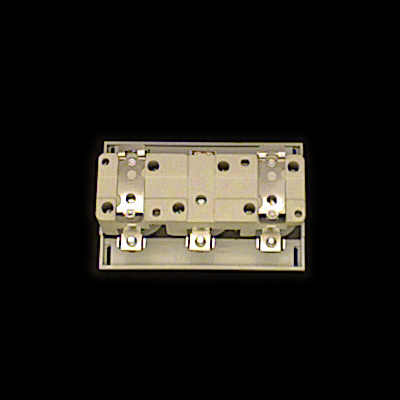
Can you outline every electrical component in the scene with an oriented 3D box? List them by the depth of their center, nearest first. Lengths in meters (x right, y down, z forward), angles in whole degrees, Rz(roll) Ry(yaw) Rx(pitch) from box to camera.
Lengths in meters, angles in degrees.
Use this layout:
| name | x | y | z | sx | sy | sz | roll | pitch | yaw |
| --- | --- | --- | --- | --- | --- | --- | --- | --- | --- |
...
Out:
| name | x | y | z | sx | sy | sz | roll | pitch | yaw |
| --- | --- | --- | --- | --- | --- | --- | --- | --- | --- |
| electrical component | 0.000 | 0.000 | 0.635 | 0.121 | 0.079 | 0.063 | 0 | -17 | 0 |
